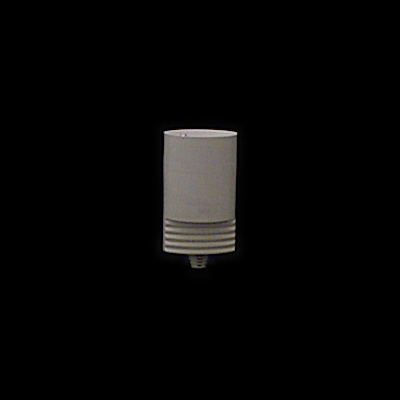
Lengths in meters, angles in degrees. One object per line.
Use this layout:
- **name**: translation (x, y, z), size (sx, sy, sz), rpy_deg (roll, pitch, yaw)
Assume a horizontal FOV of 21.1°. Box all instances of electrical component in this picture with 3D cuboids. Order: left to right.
- **electrical component**: translation (0.000, 0.000, 0.639), size (0.043, 0.081, 0.043), rpy_deg (0, 10, 0)
